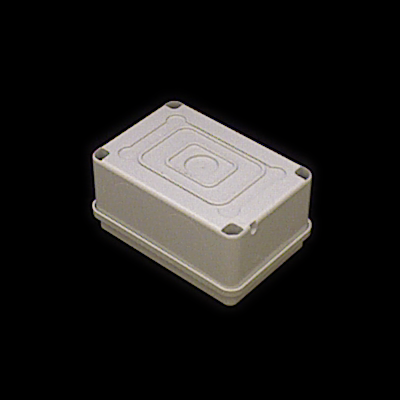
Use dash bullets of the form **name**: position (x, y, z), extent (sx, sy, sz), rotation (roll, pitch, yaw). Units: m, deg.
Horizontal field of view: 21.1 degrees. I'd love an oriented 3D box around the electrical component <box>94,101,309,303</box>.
- **electrical component**: position (0.000, 0.000, 0.632), extent (0.112, 0.057, 0.078), rotation (30, 50, 29)
